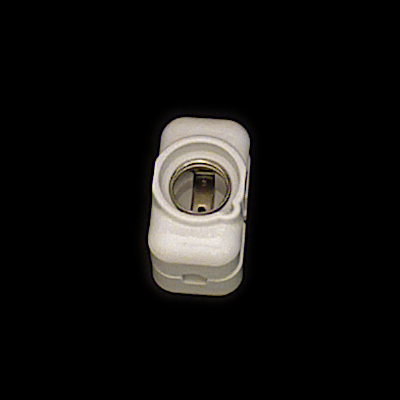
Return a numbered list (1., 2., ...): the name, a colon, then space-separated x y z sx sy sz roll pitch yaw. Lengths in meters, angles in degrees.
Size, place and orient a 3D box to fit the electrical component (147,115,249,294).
1. electrical component: 0.000 0.000 0.634 0.054 0.095 0.059 4 -26 3
